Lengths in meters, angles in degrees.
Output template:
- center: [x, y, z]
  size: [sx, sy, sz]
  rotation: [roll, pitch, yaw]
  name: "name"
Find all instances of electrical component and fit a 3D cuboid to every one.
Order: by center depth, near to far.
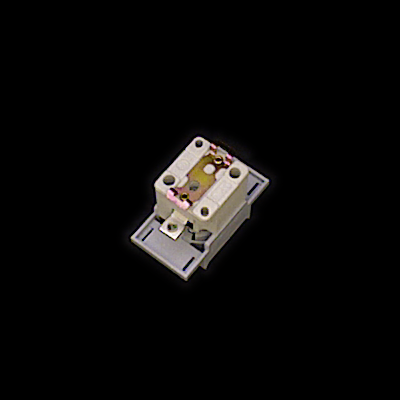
- center: [0.000, 0.000, 0.626]
  size: [0.042, 0.081, 0.063]
  rotation: [34, -22, 16]
  name: "electrical component"
